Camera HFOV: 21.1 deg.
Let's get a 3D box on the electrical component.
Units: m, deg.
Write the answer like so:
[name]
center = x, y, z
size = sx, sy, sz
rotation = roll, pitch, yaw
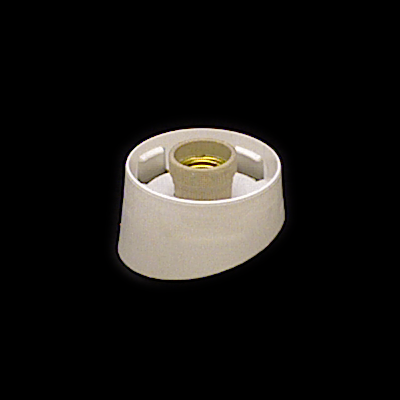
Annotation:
[electrical component]
center = 0.000, 0.000, 0.634
size = 0.099, 0.065, 0.097
rotation = 0, 31, 0
